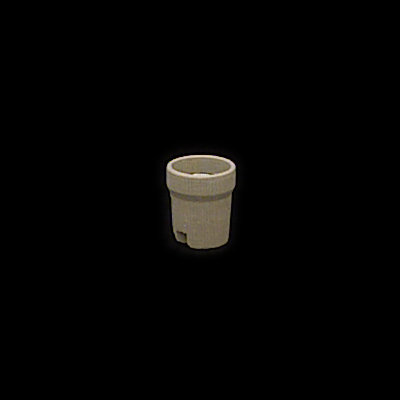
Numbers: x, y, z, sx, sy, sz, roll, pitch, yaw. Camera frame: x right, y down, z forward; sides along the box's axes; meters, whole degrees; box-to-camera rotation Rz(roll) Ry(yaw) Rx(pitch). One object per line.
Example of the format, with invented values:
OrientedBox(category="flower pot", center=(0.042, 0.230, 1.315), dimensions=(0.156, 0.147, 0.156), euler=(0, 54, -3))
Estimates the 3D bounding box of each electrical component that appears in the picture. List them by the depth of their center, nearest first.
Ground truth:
OrientedBox(category="electrical component", center=(0.000, 0.000, 0.639), dimensions=(0.040, 0.047, 0.039), euler=(1, 21, 0))
